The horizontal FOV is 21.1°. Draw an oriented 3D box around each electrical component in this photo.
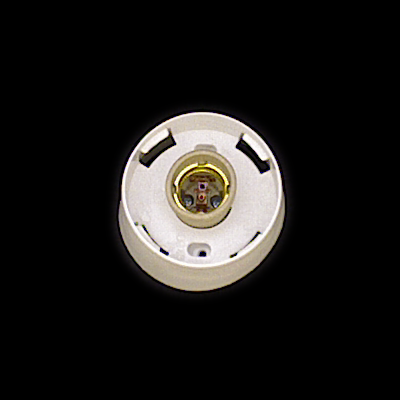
[{"bbox_3d":[0.000,0.000,0.625,0.099,0.099,0.064,0,-17,0],"label":"electrical component"}]
